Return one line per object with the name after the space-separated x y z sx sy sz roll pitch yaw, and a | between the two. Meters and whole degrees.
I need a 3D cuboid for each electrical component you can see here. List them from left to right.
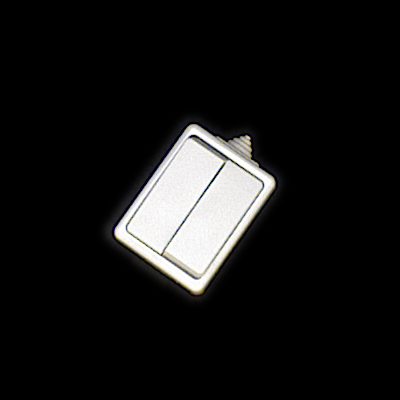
0.000 0.000 0.627 0.062 0.096 0.061 35 -5 4 | electrical component
